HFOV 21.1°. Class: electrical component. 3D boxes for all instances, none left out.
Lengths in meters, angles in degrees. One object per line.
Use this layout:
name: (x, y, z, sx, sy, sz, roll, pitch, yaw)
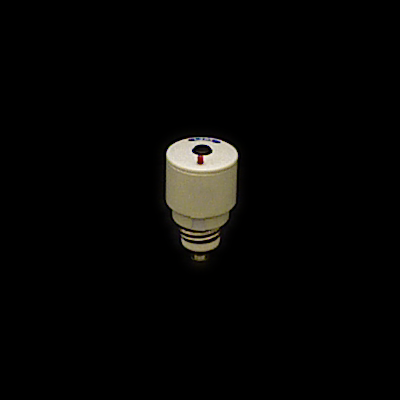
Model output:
electrical component: (0.000, 0.000, 0.627, 0.040, 0.079, 0.039, 1, 32, 0)
